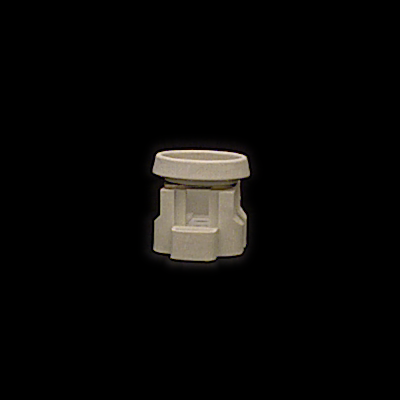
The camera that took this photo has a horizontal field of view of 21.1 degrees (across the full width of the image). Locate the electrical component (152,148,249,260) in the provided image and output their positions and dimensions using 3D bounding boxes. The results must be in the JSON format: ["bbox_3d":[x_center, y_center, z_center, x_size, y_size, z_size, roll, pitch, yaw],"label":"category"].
[{"bbox_3d":[0.000,0.000,0.646,0.058,0.057,0.078,2,11,7],"label":"electrical component"}]
